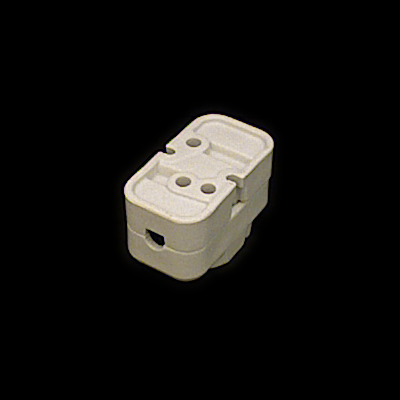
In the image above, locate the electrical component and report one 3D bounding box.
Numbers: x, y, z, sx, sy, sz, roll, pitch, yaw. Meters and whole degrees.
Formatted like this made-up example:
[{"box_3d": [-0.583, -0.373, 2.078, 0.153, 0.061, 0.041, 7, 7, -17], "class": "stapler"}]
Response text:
[{"box_3d": [0.000, 0.000, 0.638, 0.053, 0.060, 0.095, 24, 47, 23], "class": "electrical component"}]
